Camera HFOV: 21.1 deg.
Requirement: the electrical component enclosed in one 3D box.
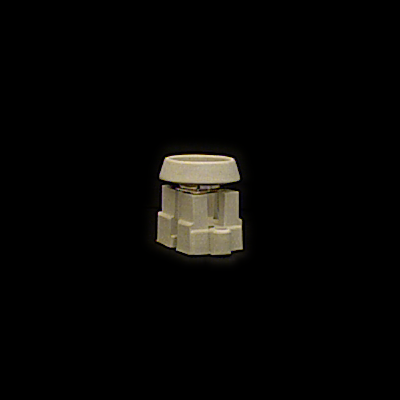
[{"bbox_3d":[0.000,0.000,0.652,0.049,0.056,0.065,-4,13,-32],"label":"electrical component"}]
